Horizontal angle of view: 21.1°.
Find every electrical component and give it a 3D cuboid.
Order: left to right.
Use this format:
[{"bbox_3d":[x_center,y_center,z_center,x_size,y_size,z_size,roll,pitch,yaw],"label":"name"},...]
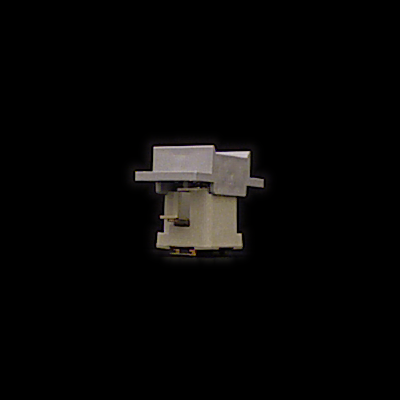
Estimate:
[{"bbox_3d":[0.000,0.000,0.647,0.042,0.064,0.081,3,1,32],"label":"electrical component"}]
